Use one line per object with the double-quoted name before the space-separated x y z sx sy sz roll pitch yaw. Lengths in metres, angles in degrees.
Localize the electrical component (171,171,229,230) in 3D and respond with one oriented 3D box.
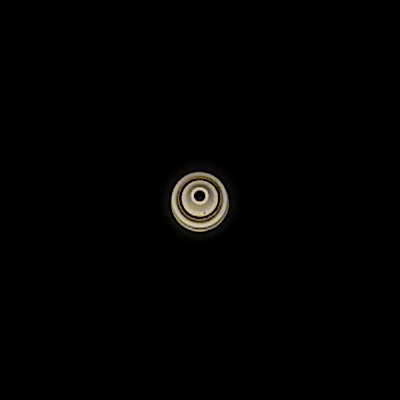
"electrical component" 0.000 0.000 0.637 0.035 0.035 0.061 0 -5 0
